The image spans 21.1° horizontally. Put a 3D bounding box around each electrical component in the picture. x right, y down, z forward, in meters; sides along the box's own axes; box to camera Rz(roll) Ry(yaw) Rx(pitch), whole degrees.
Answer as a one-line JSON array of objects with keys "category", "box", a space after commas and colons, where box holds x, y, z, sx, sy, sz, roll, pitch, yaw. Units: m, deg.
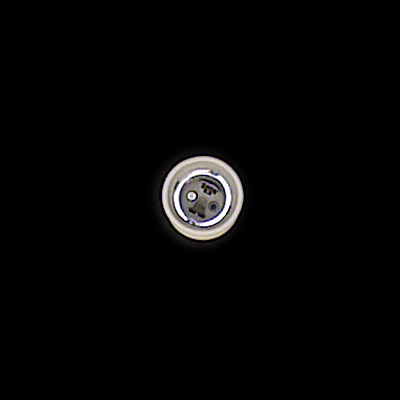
[{"category": "electrical component", "box": [0.000, 0.000, 0.629, 0.045, 0.045, 0.055, 0, -6, 0]}]
